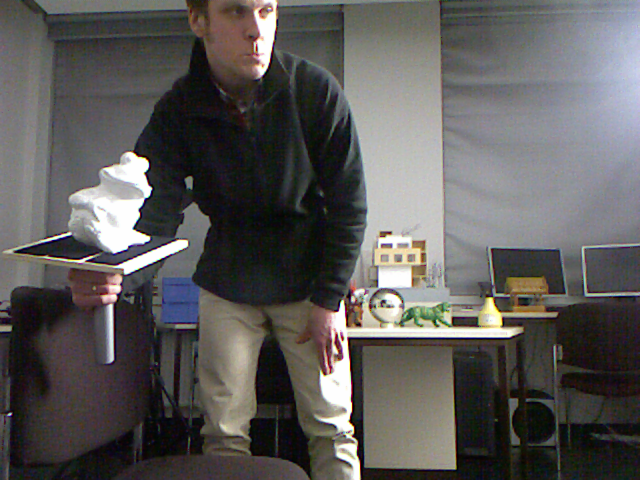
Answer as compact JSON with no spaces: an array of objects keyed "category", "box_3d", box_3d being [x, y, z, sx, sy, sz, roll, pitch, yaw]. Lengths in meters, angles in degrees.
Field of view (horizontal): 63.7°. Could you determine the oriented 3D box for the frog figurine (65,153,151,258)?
[{"category":"frog figurine","box_3d":[-0.344,-0.064,0.842,0.123,0.158,0.138,12,13,33]}]
